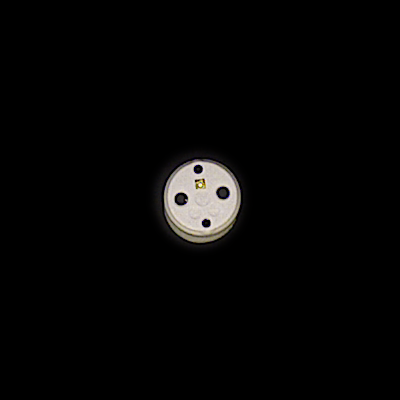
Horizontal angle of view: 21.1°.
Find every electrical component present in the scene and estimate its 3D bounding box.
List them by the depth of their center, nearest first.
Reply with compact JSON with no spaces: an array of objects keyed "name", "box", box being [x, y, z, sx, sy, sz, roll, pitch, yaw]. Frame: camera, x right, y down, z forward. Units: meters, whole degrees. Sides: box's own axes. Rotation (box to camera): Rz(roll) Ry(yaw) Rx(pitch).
[{"name":"electrical component","box":[0.000,0.000,0.630,0.045,0.045,0.055,0,-6,0]}]
